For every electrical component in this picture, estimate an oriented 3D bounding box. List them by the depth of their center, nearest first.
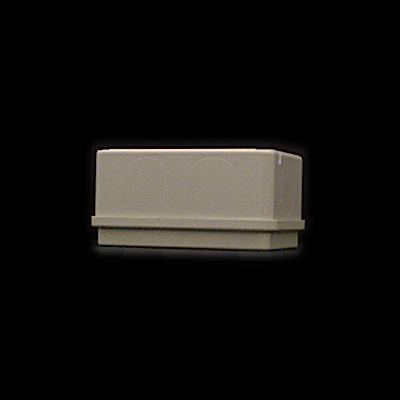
[{"bbox_3d":[0.000,0.000,0.649,0.113,0.057,0.078,1,0,20],"label":"electrical component"}]
